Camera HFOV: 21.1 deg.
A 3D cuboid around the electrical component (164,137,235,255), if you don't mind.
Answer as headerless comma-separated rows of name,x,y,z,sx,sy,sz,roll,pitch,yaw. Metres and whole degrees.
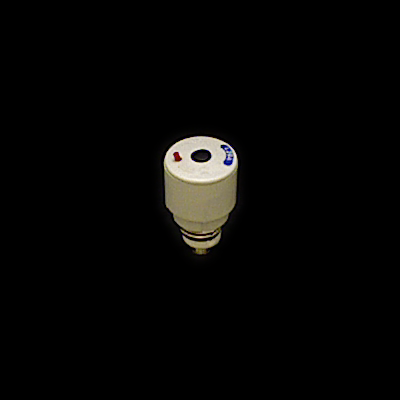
electrical component,0.000,0.000,0.624,0.040,0.079,0.039,0,42,0
